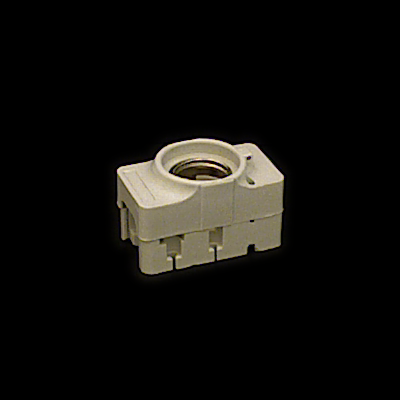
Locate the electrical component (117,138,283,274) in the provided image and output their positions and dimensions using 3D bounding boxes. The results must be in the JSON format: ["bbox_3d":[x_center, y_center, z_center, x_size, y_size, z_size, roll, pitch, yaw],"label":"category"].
[{"bbox_3d":[0.000,0.000,0.642,0.090,0.056,0.049,-12,34,-20],"label":"electrical component"}]
